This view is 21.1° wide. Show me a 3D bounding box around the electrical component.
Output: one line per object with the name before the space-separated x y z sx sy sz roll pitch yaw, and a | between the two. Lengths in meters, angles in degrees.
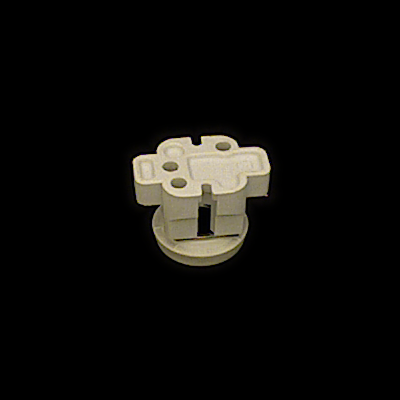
electrical component | 0.000 0.000 0.640 0.079 0.057 0.057 -5 42 -8
